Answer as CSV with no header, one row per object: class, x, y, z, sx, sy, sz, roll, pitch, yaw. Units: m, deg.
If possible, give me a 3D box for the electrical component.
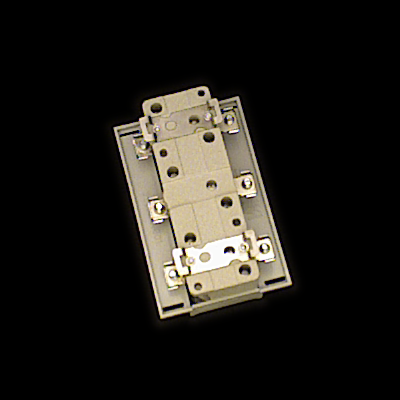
electrical component,0.000,0.000,0.633,0.079,0.122,0.062,-14,-16,-3
